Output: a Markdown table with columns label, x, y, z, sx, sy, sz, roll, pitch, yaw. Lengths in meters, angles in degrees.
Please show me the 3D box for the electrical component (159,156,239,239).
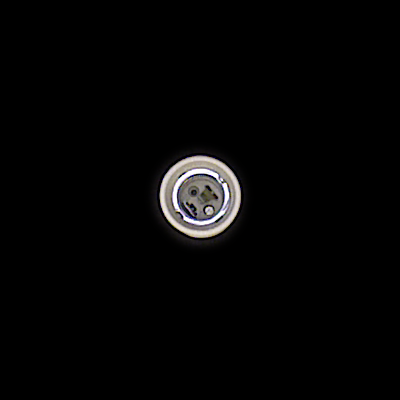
| label | x | y | z | sx | sy | sz | roll | pitch | yaw |
| --- | --- | --- | --- | --- | --- | --- | --- | --- | --- |
| electrical component | 0.000 | 0.000 | 0.628 | 0.045 | 0.045 | 0.055 | 0 | -6 | 1 |
